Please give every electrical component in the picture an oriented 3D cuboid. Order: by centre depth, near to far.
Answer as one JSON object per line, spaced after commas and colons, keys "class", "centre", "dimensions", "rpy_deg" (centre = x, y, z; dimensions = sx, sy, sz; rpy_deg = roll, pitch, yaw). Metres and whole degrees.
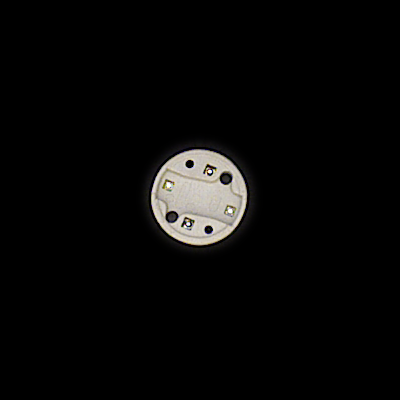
{"class": "electrical component", "centre": [0.000, 0.000, 0.636], "dimensions": [0.055, 0.055, 0.047], "rpy_deg": [0, -7, 0]}
